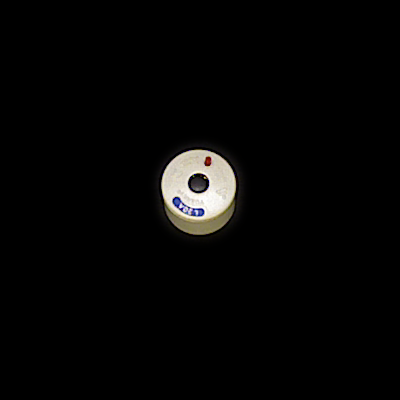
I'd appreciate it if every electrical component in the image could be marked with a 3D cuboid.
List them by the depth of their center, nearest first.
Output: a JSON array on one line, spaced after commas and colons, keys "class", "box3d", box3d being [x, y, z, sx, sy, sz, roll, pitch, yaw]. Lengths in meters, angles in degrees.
[{"class": "electrical component", "box3d": [0.000, 0.000, 0.618, 0.040, 0.040, 0.078, 0, -18, 0]}]
